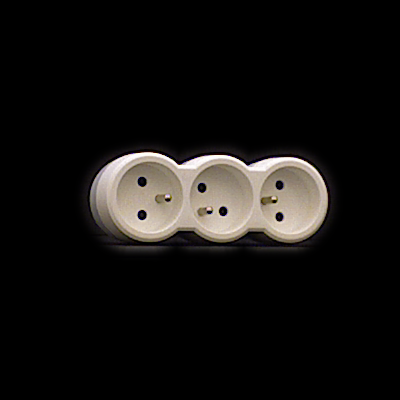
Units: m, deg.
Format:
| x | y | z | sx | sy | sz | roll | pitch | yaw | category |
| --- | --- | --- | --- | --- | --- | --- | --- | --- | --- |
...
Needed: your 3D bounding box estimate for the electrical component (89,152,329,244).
| x | y | z | sx | sy | sz | roll | pitch | yaw | category |
| --- | --- | --- | --- | --- | --- | --- | --- | --- | --- |
| 0.000 | 0.000 | 0.648 | 0.138 | 0.052 | 0.073 | 0 | -1 | -21 | electrical component |
